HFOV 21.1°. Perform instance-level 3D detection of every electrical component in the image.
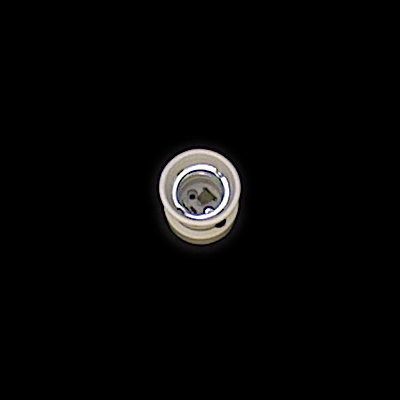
[{"bbox_3d":[0.000,0.000,0.627,0.045,0.045,0.055,0,-16,1],"label":"electrical component"}]
